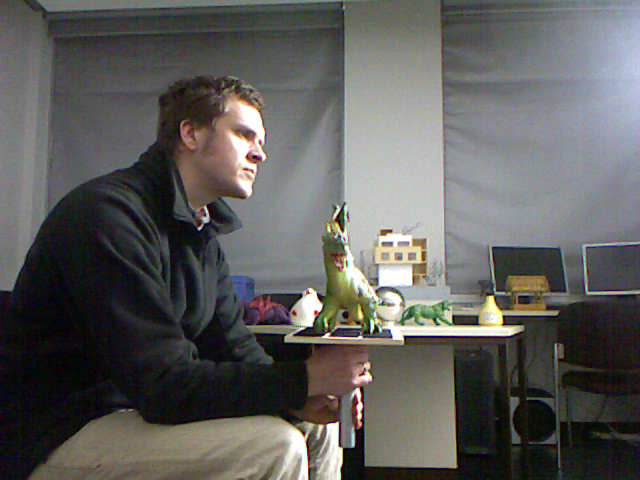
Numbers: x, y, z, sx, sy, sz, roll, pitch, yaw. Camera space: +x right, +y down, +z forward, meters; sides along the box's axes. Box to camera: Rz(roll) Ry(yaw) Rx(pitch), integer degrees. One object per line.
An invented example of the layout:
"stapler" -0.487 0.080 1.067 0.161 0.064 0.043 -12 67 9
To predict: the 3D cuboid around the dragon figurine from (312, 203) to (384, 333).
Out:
"dragon figurine" 0.054 0.049 0.988 0.122 0.244 0.410 -3 -3 7
